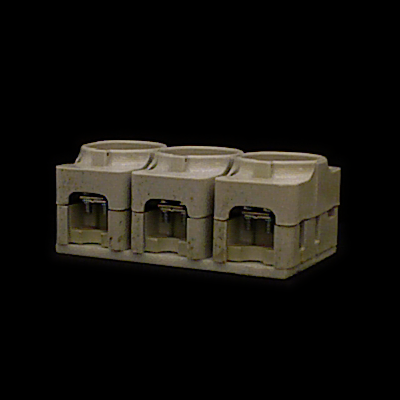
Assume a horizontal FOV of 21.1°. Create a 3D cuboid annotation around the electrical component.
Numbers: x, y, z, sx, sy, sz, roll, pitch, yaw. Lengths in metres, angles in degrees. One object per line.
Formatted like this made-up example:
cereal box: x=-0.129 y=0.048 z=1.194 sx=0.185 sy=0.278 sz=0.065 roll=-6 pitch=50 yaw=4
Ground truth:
electrical component: x=0.000 y=0.000 z=0.649 sx=0.150 sy=0.062 sz=0.089 roll=5 pitch=11 yaw=24
